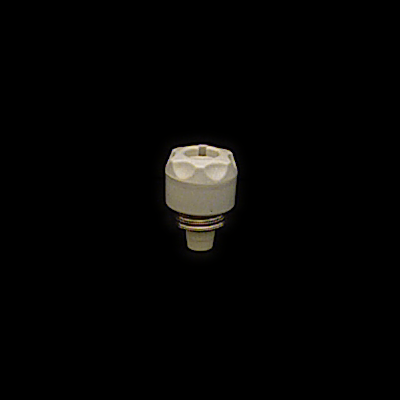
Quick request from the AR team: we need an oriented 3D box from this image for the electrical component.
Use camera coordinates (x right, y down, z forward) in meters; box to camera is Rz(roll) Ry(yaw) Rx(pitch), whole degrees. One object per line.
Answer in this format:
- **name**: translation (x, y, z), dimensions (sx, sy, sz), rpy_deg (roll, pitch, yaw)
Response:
- **electrical component**: translation (0.000, 0.000, 0.645), dimensions (0.043, 0.063, 0.043), rpy_deg (1, 23, 0)
